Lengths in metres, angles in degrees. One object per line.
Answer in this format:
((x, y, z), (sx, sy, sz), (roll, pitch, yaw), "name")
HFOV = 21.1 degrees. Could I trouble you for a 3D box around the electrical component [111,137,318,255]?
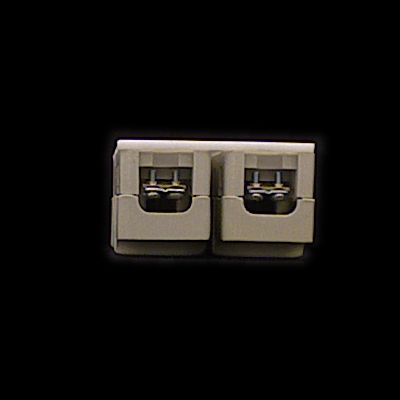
((0.000, 0.000, 0.650), (0.105, 0.060, 0.186), (1, 0, -5), "electrical component")
